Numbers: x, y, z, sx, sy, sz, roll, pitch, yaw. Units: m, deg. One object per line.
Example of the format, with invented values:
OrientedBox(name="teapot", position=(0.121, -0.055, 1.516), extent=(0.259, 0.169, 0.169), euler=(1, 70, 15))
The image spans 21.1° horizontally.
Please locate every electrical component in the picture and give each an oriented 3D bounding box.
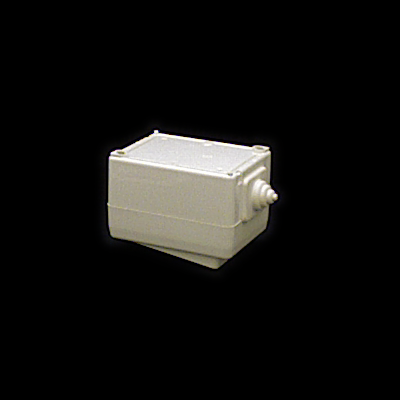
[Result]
OrientedBox(name="electrical component", position=(0.000, 0.000, 0.638), extent=(0.096, 0.061, 0.061), euler=(10, 22, 23))
